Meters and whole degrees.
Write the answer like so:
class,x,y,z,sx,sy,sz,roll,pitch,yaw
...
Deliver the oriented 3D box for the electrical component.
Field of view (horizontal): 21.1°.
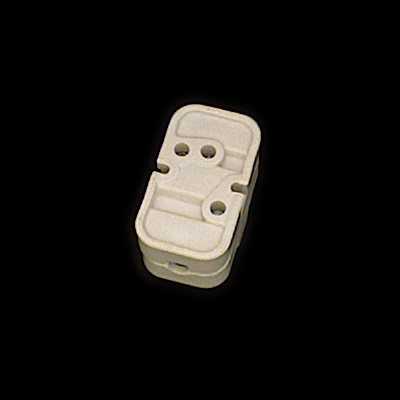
class,x,y,z,sx,sy,sz,roll,pitch,yaw
electrical component,0.000,0.000,0.634,0.053,0.095,0.059,14,-25,7
